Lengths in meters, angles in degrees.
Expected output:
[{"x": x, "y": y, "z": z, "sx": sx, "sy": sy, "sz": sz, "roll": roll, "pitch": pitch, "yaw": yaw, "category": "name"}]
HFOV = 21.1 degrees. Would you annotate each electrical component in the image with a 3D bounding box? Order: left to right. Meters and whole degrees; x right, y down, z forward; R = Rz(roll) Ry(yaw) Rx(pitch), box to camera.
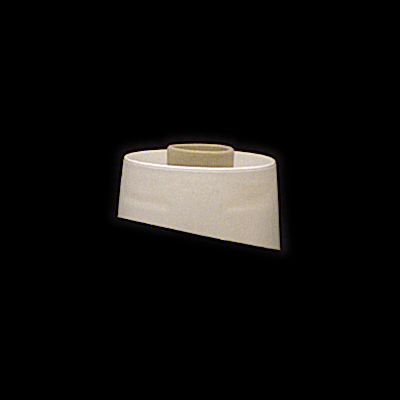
[{"x": 0.000, "y": 0.000, "z": 0.643, "sx": 0.099, "sy": 0.064, "sz": 0.098, "roll": 1, "pitch": 10, "yaw": 0, "category": "electrical component"}]
